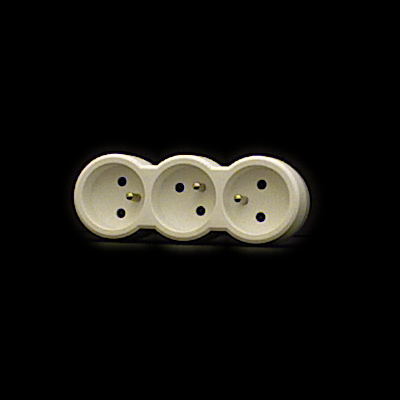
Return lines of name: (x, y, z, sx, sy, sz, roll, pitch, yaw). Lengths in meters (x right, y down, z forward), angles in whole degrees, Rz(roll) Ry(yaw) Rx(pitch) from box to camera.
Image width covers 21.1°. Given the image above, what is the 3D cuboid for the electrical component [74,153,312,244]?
electrical component: (0.000, 0.000, 0.660, 0.137, 0.052, 0.074, 1, 0, 15)
